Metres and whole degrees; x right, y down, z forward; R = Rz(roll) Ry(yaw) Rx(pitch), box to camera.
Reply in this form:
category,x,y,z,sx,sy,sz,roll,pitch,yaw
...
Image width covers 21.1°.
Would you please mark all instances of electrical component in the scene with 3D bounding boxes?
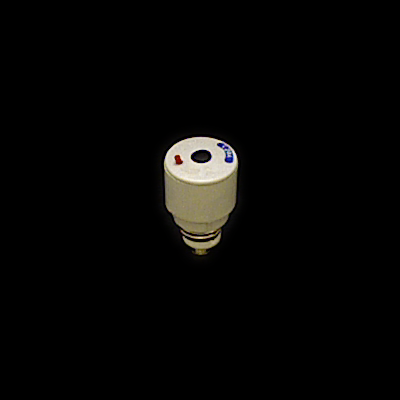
category,x,y,z,sx,sy,sz,roll,pitch,yaw
electrical component,0.000,0.000,0.624,0.040,0.079,0.039,0,42,0
